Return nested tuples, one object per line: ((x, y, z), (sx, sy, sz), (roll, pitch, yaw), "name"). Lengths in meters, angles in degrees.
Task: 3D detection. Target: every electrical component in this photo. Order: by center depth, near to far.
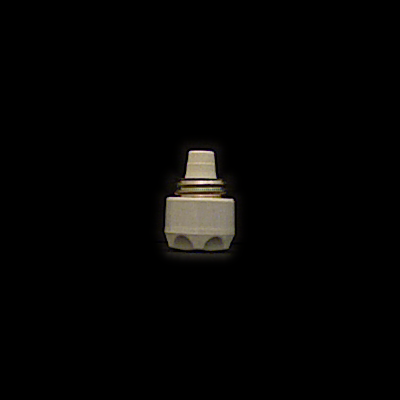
((0.000, 0.000, 0.657), (0.043, 0.062, 0.043), (2, 1, 0), "electrical component")
